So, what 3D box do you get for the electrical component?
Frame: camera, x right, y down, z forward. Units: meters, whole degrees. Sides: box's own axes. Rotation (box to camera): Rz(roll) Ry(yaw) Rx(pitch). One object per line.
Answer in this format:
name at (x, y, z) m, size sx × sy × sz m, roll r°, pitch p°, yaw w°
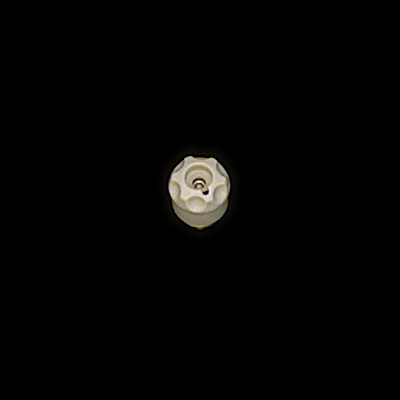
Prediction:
electrical component at (0.000, 0.000, 0.632) m, size 0.035 × 0.035 × 0.061 m, roll 0°, pitch -26°, yaw 0°
